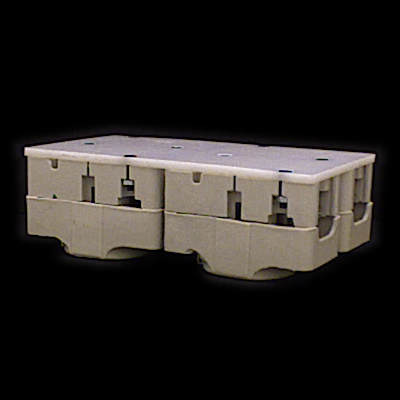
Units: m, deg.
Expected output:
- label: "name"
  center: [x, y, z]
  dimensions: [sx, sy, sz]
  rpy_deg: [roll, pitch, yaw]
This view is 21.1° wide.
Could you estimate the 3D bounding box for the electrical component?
- label: "electrical component"
  center: [0.000, 0.000, 0.644]
  dimensions: [0.185, 0.061, 0.105]
  rpy_deg: [6, 11, 26]
